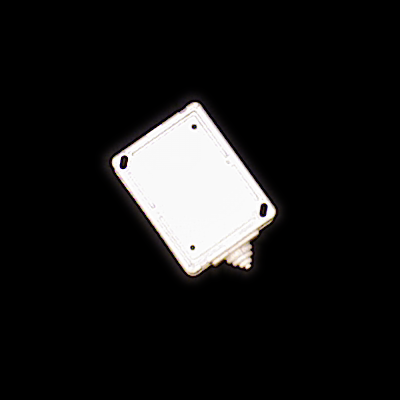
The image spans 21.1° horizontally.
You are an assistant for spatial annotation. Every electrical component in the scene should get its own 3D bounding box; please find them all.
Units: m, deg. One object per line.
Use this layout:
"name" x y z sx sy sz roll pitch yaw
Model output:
"electrical component" 0.000 0.000 0.629 0.062 0.096 0.061 -35 -5 -3
